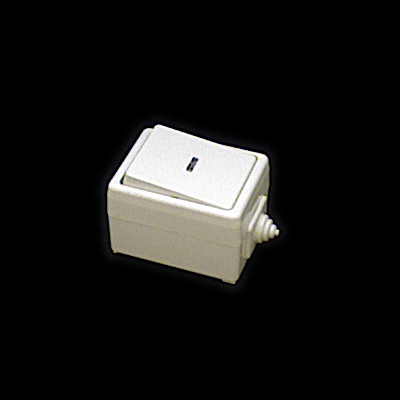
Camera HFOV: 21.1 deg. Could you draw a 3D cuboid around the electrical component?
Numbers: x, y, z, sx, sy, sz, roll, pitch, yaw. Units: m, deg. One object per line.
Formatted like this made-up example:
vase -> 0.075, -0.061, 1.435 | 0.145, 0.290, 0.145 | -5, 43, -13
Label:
electrical component -> 0.000, 0.000, 0.629 | 0.096, 0.061, 0.061 | 14, 44, 14
